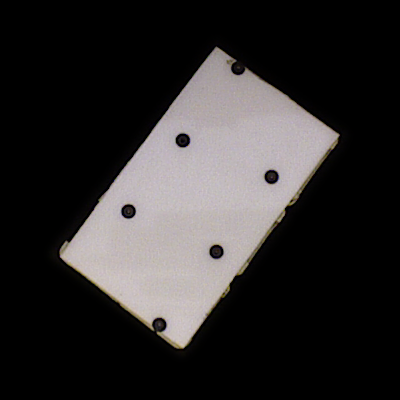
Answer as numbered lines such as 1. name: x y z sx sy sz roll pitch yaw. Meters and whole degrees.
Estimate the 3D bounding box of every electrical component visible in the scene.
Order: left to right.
1. electrical component: 0.000 0.000 0.630 0.089 0.150 0.061 37 -5 4
